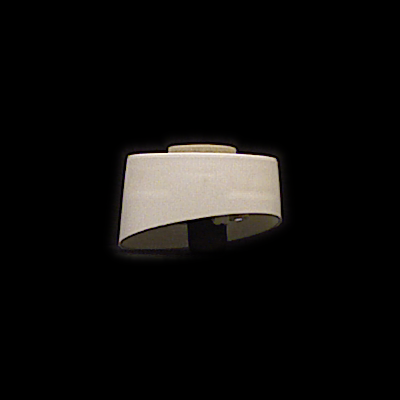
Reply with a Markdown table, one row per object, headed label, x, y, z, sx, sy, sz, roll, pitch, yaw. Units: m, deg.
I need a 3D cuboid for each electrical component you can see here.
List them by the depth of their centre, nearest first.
| label | x | y | z | sx | sy | sz | roll | pitch | yaw |
| --- | --- | --- | --- | --- | --- | --- | --- | --- | --- |
| electrical component | 0.000 | 0.000 | 0.650 | 0.099 | 0.064 | 0.099 | 1 | 0 | 0 |
